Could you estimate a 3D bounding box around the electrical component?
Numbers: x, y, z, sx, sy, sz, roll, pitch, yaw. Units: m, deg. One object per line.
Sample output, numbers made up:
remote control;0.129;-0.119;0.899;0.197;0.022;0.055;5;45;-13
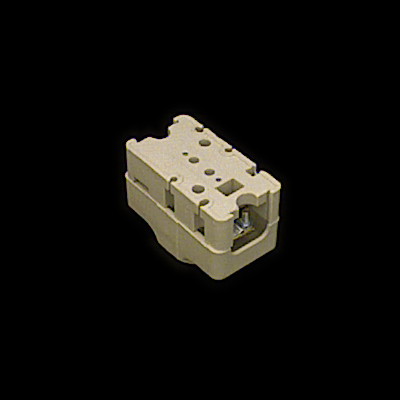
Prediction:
electrical component;0.000;0.000;0.640;0.050;0.056;0.088;-29;51;-29
